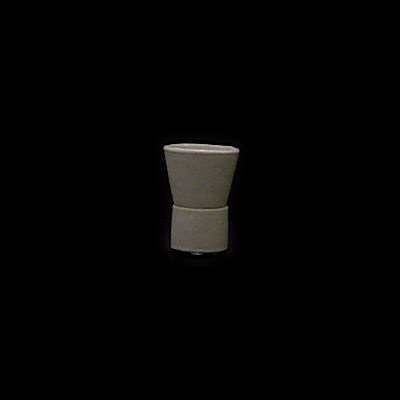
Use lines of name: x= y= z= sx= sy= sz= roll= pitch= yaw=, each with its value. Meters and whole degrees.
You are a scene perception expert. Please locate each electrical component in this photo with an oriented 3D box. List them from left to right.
electrical component: x=0.000 y=0.000 z=0.646 sx=0.044 sy=0.066 sz=0.044 roll=1 pitch=10 yaw=0
